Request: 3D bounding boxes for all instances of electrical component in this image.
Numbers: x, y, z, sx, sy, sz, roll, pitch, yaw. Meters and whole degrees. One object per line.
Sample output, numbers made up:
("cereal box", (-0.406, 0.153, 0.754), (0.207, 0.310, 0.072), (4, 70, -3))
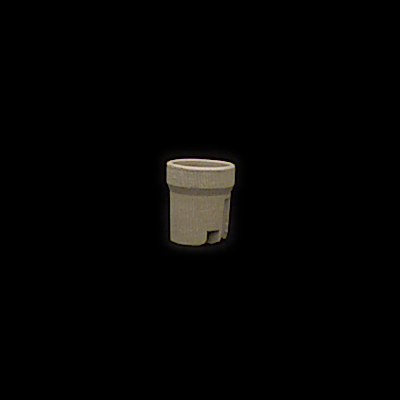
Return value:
("electrical component", (0.000, 0.000, 0.643), (0.040, 0.046, 0.040), (1, 11, 0))
